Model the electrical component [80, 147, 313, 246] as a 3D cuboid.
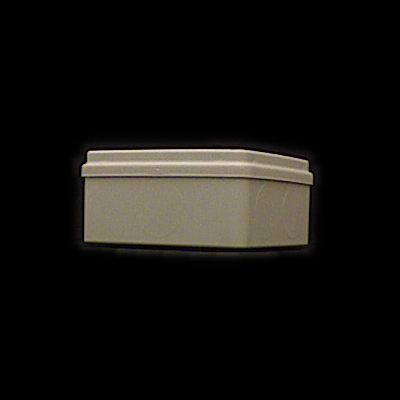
[{"bbox_3d":[0.000,0.000,0.652,0.108,0.056,0.109,1,0,26],"label":"electrical component"}]
